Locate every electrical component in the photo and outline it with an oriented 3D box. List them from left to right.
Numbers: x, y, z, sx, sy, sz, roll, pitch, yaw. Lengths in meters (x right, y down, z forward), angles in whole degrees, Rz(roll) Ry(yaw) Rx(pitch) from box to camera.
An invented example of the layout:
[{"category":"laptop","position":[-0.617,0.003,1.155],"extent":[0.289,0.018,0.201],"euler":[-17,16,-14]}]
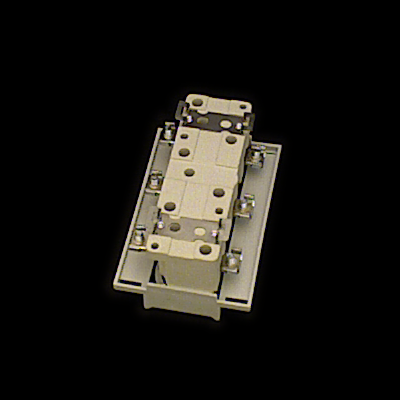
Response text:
[{"category":"electrical component","position":[0.000,0.000,0.635],"extent":[0.078,0.121,0.063],"euler":[9,-36,6]}]
